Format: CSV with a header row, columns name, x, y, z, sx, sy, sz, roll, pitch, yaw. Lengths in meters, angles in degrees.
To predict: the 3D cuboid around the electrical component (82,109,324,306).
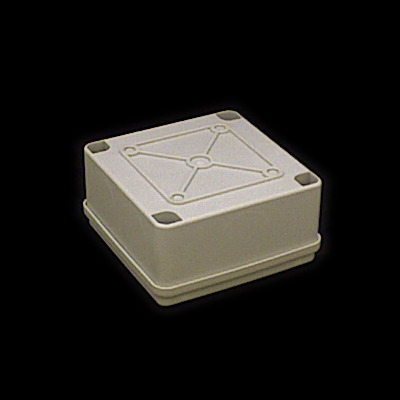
name,x,y,z,sx,sy,sz,roll,pitch,yaw
electrical component,0.000,0.000,0.632,0.109,0.057,0.107,-16,35,-24
